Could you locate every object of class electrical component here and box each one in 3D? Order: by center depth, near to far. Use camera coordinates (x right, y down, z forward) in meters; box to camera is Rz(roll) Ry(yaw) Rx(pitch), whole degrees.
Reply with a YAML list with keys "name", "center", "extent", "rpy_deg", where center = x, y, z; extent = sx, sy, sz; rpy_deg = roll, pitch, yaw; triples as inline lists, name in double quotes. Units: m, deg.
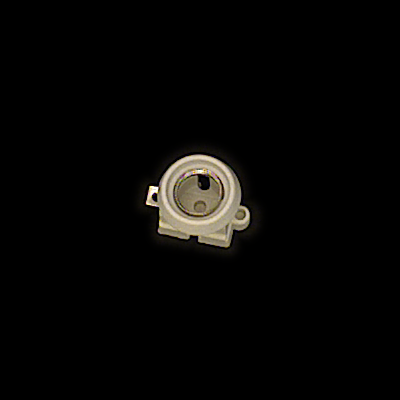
- name: "electrical component"
  center: [0.000, 0.000, 0.637]
  extent: [0.066, 0.049, 0.055]
  rpy_deg: [10, -18, 3]
